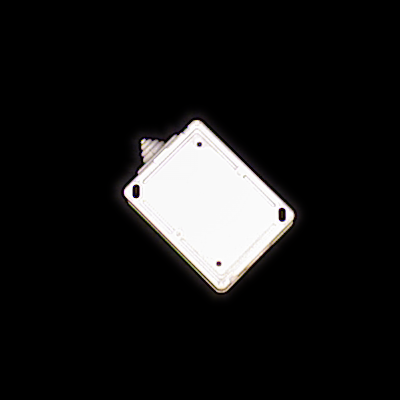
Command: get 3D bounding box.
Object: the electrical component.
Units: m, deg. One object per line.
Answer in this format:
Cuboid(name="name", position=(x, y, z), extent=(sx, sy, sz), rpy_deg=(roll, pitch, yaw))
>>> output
Cuboid(name="electrical component", position=(0.000, 0.000, 0.629), extent=(0.096, 0.062, 0.061), rpy_deg=(45, -4, 6))
